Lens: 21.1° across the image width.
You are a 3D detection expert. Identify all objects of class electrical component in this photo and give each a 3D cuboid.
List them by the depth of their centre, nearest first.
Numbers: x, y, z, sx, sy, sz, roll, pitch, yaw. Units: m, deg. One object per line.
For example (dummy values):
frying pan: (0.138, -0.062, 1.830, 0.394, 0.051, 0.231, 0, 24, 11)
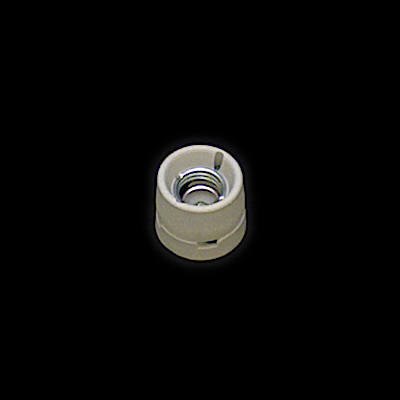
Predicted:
electrical component: (0.000, 0.000, 0.633, 0.055, 0.055, 0.047, 0, -37, 1)
